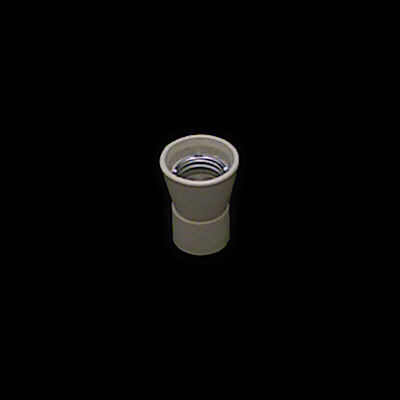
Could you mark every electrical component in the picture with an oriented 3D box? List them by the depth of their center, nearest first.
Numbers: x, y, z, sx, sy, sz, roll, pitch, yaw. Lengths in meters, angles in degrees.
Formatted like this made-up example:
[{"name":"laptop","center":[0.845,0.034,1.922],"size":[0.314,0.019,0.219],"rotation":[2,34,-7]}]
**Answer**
[{"name":"electrical component","center":[0.000,0.000,0.628],"size":[0.044,0.066,0.044],"rotation":[0,42,1]}]
